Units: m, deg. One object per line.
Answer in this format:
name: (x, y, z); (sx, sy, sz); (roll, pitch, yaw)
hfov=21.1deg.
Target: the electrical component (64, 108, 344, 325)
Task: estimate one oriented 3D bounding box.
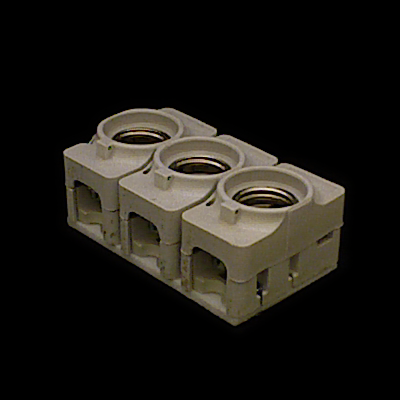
electrical component: (0.000, 0.000, 0.639); (0.089, 0.063, 0.148); (-27, 40, -37)
